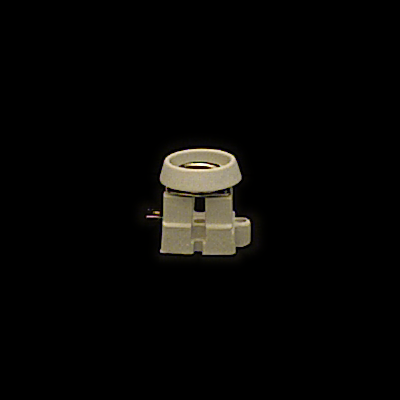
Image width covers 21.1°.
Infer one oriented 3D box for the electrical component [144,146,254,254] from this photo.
[{"bbox_3d":[0.000,0.000,0.646,0.066,0.056,0.048,1,20,0],"label":"electrical component"}]
